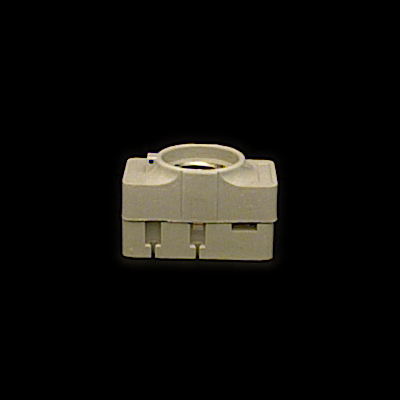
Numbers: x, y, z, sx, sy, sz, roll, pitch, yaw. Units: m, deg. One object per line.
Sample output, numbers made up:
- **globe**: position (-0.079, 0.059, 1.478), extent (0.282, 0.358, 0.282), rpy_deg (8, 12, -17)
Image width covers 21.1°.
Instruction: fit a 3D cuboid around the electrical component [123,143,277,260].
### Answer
- **electrical component**: position (0.000, 0.000, 0.647), extent (0.090, 0.056, 0.049), rpy_deg (1, 22, -1)
